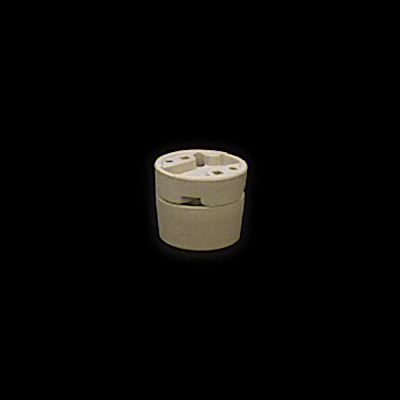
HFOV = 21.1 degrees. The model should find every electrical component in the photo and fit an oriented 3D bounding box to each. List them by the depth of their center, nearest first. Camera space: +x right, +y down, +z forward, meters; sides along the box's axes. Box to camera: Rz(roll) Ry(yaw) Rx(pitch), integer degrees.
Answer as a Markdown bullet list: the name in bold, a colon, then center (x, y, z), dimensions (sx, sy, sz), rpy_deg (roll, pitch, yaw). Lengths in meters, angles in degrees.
- **electrical component**: center (0.000, 0.000, 0.643), dimensions (0.055, 0.047, 0.055), rpy_deg (1, 22, 0)
